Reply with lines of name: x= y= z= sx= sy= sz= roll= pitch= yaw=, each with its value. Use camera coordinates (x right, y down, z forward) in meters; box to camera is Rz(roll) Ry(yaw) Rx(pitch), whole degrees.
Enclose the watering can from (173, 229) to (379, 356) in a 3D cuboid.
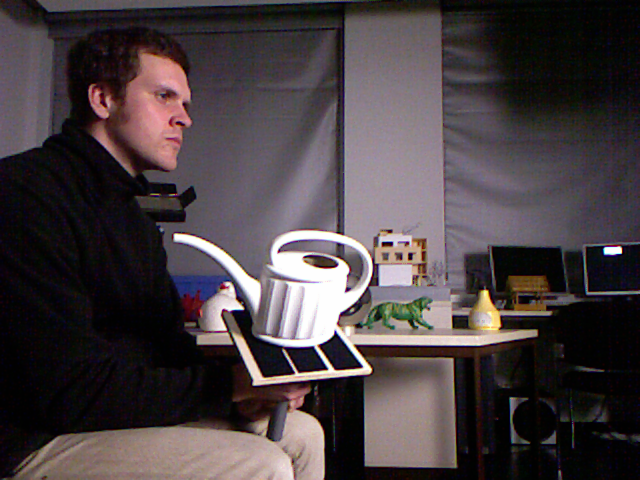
watering can: x=-0.070 y=0.081 z=0.838 sx=0.348 sy=0.221 sz=0.106 roll=4 pitch=24 yaw=-22
